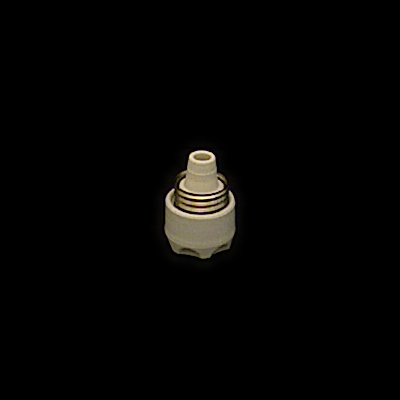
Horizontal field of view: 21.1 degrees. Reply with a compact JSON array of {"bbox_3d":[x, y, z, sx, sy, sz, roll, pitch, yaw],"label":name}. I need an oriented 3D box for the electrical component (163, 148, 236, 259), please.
[{"bbox_3d":[0.000,0.000,0.642,0.043,0.063,0.043,2,32,-1],"label":"electrical component"}]
